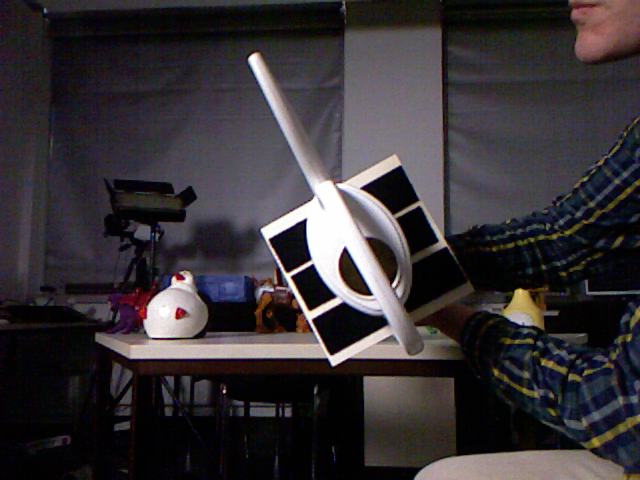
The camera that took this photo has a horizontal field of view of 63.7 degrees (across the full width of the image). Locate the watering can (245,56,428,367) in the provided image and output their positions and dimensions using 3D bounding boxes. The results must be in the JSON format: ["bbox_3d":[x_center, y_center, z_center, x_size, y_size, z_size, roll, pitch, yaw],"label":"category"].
[{"bbox_3d":[0.031,-0.030,0.582,0.105,0.353,0.226,-28,-6,9],"label":"watering can"}]
